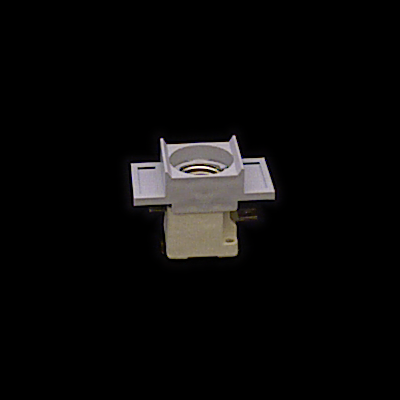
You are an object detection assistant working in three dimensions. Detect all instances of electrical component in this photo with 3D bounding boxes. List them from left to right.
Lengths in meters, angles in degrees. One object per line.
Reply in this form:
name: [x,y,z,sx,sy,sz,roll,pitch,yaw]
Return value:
electrical component: [0.000,0.000,0.634,0.081,0.064,0.041,-2,30,-5]
